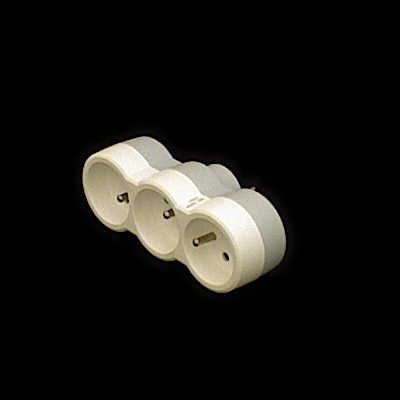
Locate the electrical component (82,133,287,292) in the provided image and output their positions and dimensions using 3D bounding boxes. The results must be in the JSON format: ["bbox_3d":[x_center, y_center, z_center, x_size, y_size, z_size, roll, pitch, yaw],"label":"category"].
[{"bbox_3d":[0.000,0.000,0.645,0.074,0.053,0.136,-26,41,-38],"label":"electrical component"}]
